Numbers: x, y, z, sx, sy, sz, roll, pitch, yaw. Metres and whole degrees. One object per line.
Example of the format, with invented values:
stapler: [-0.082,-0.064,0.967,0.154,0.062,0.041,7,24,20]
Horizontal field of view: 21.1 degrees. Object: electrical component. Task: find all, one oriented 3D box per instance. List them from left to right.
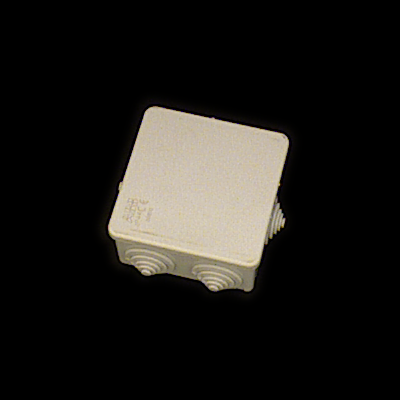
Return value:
electrical component: [0.000,0.000,0.639,0.099,0.100,0.048,13,-26,6]
